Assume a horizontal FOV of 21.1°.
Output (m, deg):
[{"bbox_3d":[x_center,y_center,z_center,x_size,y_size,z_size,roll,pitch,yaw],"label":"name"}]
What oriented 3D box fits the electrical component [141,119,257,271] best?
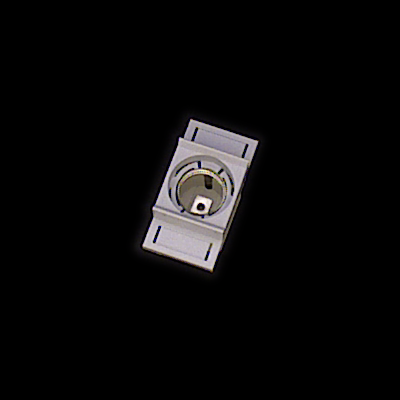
[{"bbox_3d":[0.000,0.000,0.623,0.042,0.081,0.063,19,-16,5],"label":"electrical component"}]
